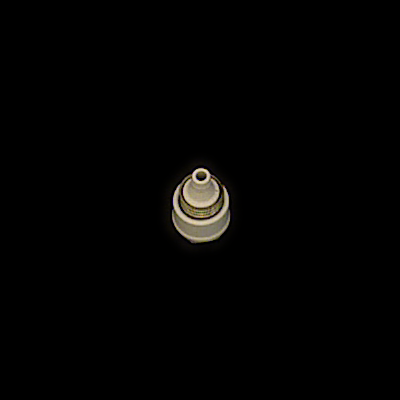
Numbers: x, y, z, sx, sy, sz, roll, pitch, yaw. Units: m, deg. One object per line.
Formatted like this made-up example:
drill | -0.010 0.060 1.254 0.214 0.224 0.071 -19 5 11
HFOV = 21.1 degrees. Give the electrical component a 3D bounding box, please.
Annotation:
electrical component | 0.000 0.000 0.637 0.035 0.035 0.061 0 -28 -1
